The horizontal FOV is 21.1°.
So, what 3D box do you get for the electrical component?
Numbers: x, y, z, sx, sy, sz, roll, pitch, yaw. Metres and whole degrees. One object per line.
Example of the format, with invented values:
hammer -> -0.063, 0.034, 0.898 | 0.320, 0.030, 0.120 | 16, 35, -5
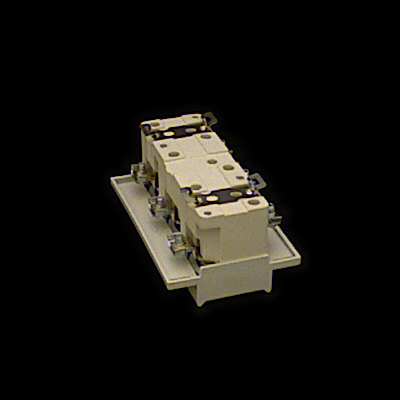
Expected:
electrical component -> 0.000, 0.000, 0.639 | 0.079, 0.064, 0.119 | -11, 34, -16
